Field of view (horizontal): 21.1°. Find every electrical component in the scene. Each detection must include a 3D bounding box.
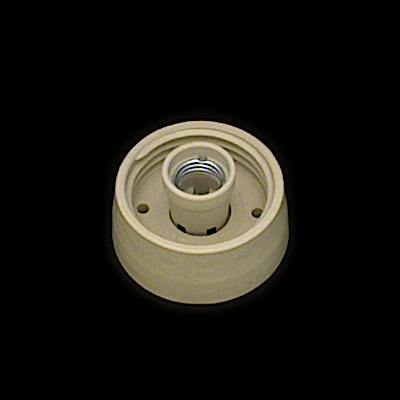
[{"bbox_3d":[0.000,0.000,0.636,0.108,0.107,0.060,0,-37,0],"label":"electrical component"}]
